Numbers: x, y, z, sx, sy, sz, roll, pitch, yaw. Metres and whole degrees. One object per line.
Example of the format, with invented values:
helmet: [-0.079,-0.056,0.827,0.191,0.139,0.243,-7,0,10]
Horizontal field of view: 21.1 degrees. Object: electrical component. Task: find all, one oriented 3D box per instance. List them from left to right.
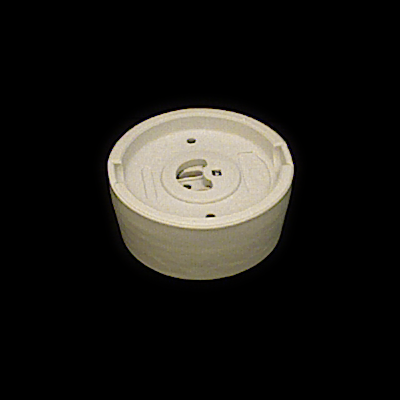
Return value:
electrical component: [0.000,0.000,0.640,0.108,0.061,0.106,0,43,0]
